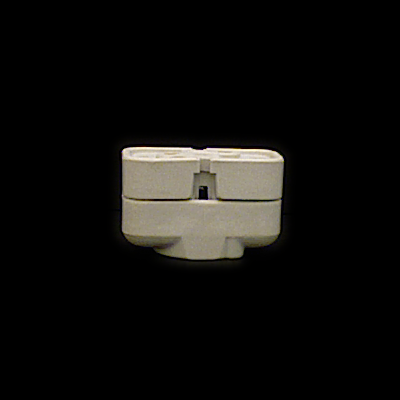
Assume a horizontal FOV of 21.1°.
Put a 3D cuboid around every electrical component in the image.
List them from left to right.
[{"bbox_3d":[0.000,0.000,0.649,0.095,0.060,0.053,1,11,-5],"label":"electrical component"}]
